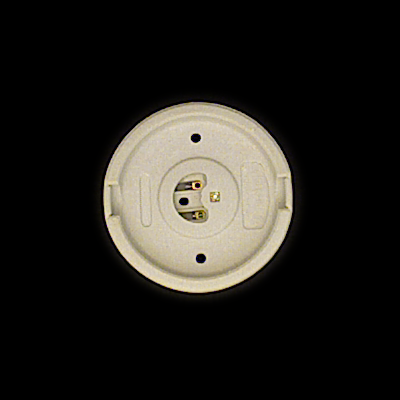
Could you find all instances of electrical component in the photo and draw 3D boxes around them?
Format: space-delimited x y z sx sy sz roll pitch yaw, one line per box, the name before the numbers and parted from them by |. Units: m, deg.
electrical component | 0.000 0.000 0.635 0.108 0.108 0.060 0 -6 0
